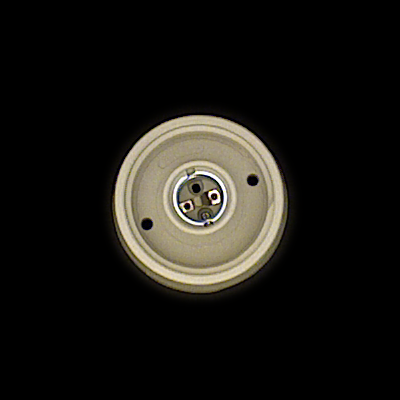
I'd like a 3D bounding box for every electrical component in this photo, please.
[{"bbox_3d":[0.000,0.000,0.634,0.108,0.108,0.060,0,-6,0],"label":"electrical component"}]
